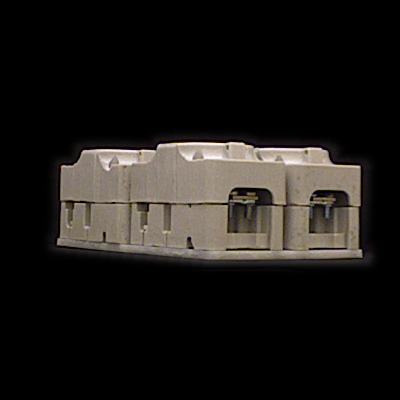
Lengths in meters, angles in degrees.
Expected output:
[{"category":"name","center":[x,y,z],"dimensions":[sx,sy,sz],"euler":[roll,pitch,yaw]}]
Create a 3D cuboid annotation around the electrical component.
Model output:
[{"category":"electrical component","center":[0.000,0.000,0.650],"dimensions":[0.106,0.060,0.186],"euler":[1,0,-33]}]
